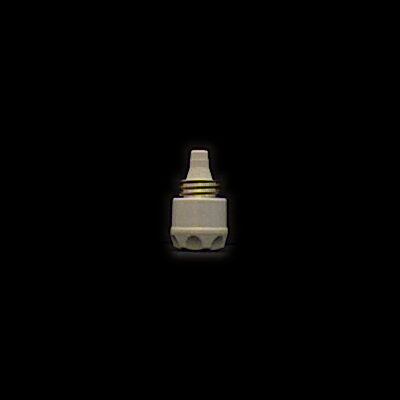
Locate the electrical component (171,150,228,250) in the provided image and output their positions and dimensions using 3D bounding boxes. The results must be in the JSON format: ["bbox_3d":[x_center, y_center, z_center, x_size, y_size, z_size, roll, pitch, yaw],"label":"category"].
[{"bbox_3d":[0.000,0.000,0.661,0.035,0.061,0.035,0,1,0],"label":"electrical component"}]
